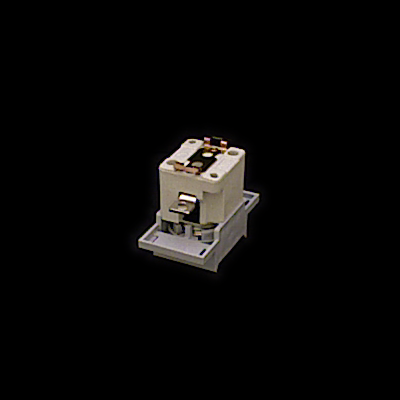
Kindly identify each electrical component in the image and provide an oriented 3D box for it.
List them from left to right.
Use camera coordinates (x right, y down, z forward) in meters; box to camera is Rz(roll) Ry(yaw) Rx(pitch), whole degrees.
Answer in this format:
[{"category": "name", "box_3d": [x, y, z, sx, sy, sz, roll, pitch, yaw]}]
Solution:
[{"category": "electrical component", "box_3d": [0.000, 0.000, 0.634, 0.042, 0.064, 0.080, 14, 34, 21]}]
